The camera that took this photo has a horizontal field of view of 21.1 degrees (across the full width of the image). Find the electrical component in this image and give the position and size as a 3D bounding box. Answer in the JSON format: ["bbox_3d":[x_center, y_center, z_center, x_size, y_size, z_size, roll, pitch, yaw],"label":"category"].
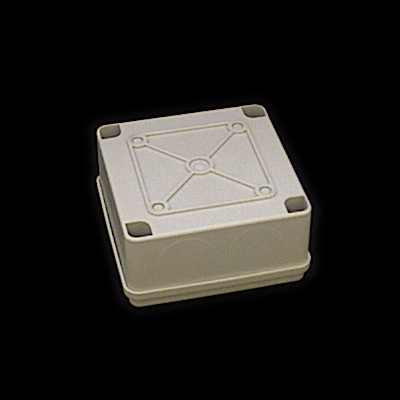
[{"bbox_3d":[0.000,0.000,0.631,0.109,0.057,0.107,-9,42,-10],"label":"electrical component"}]
